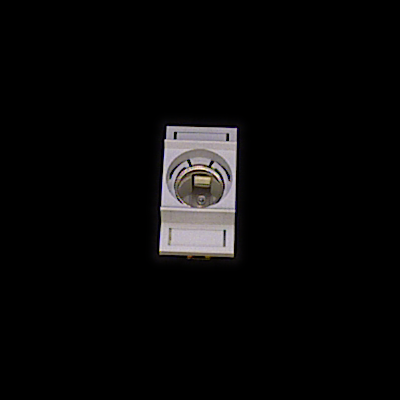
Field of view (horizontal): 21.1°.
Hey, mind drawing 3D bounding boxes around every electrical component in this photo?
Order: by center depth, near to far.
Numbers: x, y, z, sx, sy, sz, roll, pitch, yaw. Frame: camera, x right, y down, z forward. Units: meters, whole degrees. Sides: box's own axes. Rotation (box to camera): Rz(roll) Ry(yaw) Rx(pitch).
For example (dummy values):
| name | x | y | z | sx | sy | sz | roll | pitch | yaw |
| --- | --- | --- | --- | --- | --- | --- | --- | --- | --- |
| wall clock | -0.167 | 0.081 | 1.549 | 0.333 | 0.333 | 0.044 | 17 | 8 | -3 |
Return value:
| name | x | y | z | sx | sy | sz | roll | pitch | yaw |
| --- | --- | --- | --- | --- | --- | --- | --- | --- | --- |
| electrical component | 0.000 | 0.000 | 0.625 | 0.042 | 0.081 | 0.064 | 2 | -27 | 2 |
